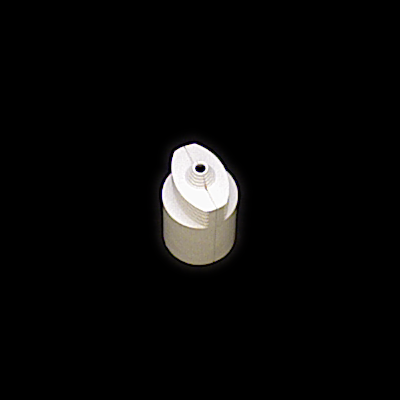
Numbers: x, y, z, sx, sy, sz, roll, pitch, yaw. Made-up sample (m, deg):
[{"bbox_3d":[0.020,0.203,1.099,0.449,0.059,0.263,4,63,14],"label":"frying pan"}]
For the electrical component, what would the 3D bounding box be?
[{"bbox_3d":[0.000,0.000,0.617,0.043,0.043,0.081,0,-27,0],"label":"electrical component"}]
